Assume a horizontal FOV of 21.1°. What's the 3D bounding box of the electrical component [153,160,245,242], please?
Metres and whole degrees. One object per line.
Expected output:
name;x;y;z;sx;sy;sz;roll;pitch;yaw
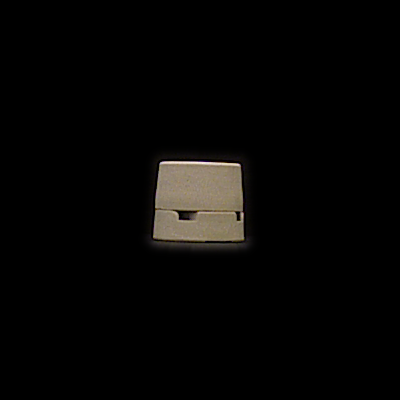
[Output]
electrical component;0.000;0.000;0.648;0.055;0.047;0.055;1;2;0
